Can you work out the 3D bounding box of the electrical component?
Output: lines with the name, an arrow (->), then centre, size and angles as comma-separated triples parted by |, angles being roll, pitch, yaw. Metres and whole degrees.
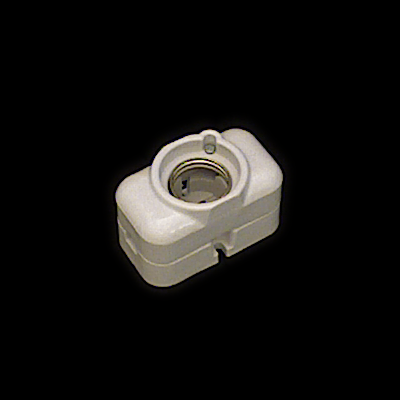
electrical component -> 0.000, 0.000, 0.636 | 0.095, 0.053, 0.059 | -27, -32, -20
